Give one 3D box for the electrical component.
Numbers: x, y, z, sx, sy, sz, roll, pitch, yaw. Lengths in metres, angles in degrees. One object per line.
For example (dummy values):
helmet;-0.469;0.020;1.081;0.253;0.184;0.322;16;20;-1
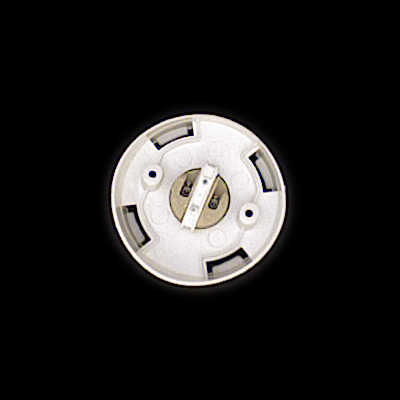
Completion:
electrical component;0.000;0.000;0.624;0.099;0.099;0.064;0;-6;0
